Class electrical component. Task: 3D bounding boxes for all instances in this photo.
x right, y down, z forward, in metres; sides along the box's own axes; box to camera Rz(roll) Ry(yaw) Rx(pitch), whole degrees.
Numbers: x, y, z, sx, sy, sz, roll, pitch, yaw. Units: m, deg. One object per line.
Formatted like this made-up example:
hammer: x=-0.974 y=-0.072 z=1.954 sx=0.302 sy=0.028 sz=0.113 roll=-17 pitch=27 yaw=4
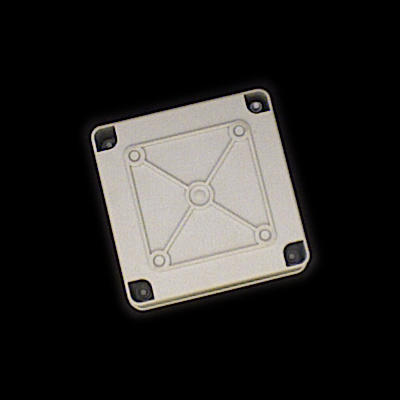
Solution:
electrical component: x=0.000 y=0.000 z=0.629 sx=0.109 sy=0.109 sz=0.056 roll=-13 pitch=-7 yaw=-2
